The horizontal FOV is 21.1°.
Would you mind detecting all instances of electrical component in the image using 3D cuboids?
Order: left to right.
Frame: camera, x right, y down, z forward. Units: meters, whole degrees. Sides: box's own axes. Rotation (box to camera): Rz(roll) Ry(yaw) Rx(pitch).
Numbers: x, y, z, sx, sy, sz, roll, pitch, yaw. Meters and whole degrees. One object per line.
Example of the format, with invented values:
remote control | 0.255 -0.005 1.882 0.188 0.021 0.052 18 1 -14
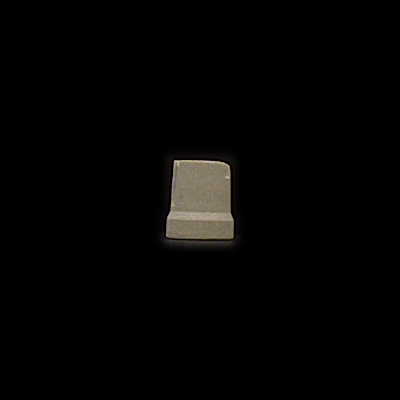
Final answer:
electrical component | 0.000 0.000 0.649 0.040 0.046 0.040 1 2 0
